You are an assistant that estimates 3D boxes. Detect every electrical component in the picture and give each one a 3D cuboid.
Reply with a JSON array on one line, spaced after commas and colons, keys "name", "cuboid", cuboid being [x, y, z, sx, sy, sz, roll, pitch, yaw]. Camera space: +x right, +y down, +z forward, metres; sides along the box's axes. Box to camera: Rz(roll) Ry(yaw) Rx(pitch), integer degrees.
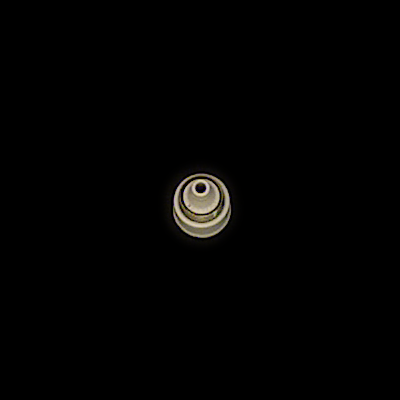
[{"name": "electrical component", "cuboid": [0.000, 0.000, 0.637, 0.035, 0.035, 0.061, 0, -15, 1]}]
